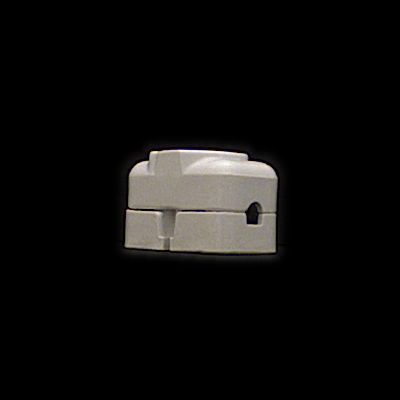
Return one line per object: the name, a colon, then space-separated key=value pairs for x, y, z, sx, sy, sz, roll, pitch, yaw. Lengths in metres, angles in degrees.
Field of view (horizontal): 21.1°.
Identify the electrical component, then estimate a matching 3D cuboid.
electrical component: x=0.000 y=0.000 z=0.655 sx=0.054 sy=0.059 sz=0.094 roll=1 pitch=1 yaw=-44
